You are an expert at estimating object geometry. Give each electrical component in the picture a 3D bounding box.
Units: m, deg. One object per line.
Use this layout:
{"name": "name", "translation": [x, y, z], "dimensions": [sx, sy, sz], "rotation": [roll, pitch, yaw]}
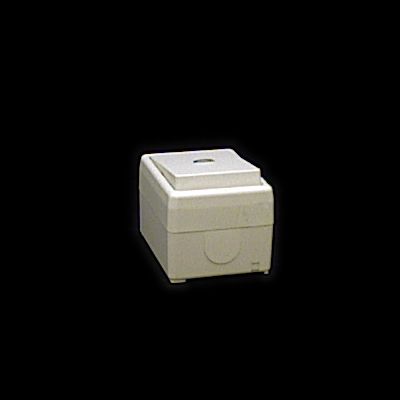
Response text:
{"name": "electrical component", "translation": [0.000, 0.000, 0.641], "dimensions": [0.062, 0.061, 0.095], "rotation": [-5, 21, -15]}
